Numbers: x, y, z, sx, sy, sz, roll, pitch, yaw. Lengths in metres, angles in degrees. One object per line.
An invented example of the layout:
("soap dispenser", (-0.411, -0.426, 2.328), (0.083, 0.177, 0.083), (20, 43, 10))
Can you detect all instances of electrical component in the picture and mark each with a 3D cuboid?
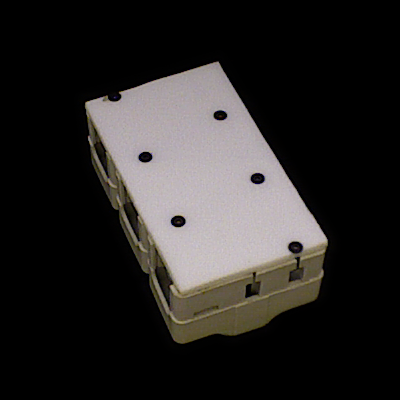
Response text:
("electrical component", (0.000, 0.000, 0.632), (0.089, 0.148, 0.062), (-18, -35, -14))
